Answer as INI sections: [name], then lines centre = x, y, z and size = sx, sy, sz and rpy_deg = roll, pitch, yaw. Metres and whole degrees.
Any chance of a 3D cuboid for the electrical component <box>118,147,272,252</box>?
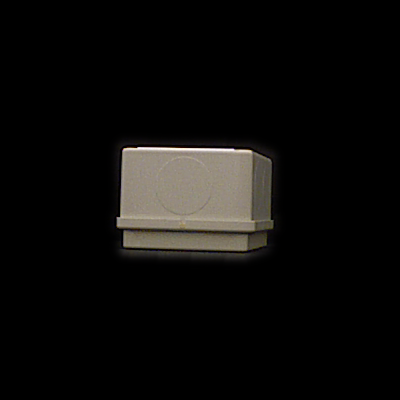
[electrical component]
centre = 0.000, 0.000, 0.649
size = 0.078, 0.057, 0.113
rpy_deg = 1, 1, 10
